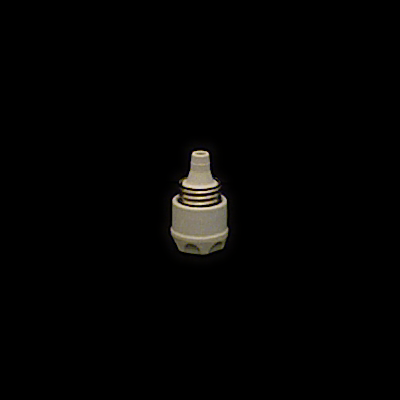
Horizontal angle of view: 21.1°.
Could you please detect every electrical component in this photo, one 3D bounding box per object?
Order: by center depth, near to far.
[{"bbox_3d":[0.000,0.000,0.650,0.035,0.062,0.035,1,21,0],"label":"electrical component"}]
